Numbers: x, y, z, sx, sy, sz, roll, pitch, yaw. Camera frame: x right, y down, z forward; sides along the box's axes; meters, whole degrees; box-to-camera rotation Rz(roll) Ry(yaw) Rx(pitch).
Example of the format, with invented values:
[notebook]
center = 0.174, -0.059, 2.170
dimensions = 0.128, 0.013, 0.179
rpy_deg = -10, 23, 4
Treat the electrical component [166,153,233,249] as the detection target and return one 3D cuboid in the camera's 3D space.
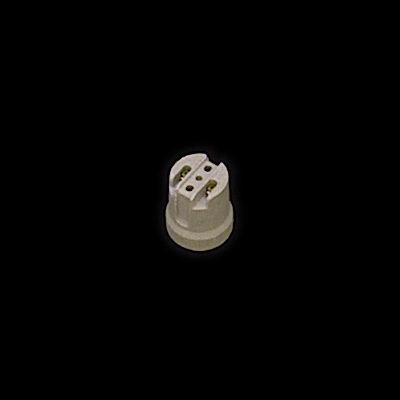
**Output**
[electrical component]
center = 0.000, 0.000, 0.634
dimensions = 0.040, 0.040, 0.046
rpy_deg = 0, -38, 0
